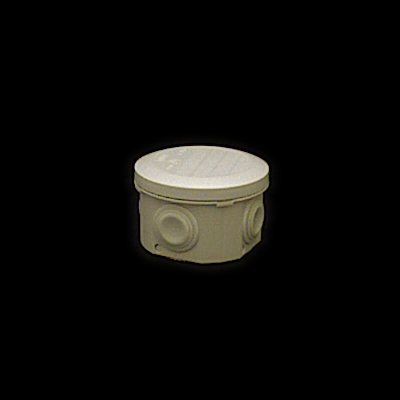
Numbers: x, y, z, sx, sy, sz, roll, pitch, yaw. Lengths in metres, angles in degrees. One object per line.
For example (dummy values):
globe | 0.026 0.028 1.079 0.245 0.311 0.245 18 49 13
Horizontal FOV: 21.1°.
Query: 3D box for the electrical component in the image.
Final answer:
electrical component | 0.000 0.000 0.643 0.080 0.051 0.079 1 21 0
